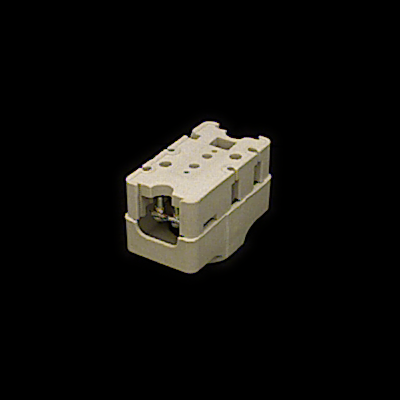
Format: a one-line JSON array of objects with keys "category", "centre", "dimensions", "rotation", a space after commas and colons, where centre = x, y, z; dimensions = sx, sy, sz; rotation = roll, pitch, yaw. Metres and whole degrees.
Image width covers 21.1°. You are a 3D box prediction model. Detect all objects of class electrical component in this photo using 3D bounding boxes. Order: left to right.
[{"category": "electrical component", "centre": [0.000, 0.000, 0.643], "dimensions": [0.049, 0.056, 0.089], "rotation": [19, 36, 27]}]
